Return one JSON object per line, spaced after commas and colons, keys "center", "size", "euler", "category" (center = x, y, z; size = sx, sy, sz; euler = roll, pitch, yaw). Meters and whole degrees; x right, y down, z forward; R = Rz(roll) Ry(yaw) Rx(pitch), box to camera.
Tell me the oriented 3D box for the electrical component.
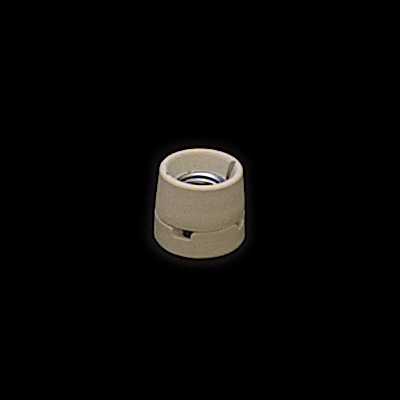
{"center": [0.000, 0.000, 0.638], "size": [0.055, 0.047, 0.055], "euler": [2, 31, -1], "category": "electrical component"}
